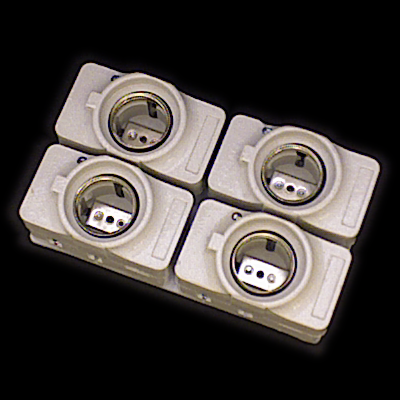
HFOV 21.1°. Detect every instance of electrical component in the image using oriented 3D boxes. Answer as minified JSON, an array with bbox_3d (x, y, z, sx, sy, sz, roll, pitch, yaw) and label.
[{"bbox_3d":[0.000,0.000,0.625,0.186,0.106,0.060,19,-16,6],"label":"electrical component"}]
